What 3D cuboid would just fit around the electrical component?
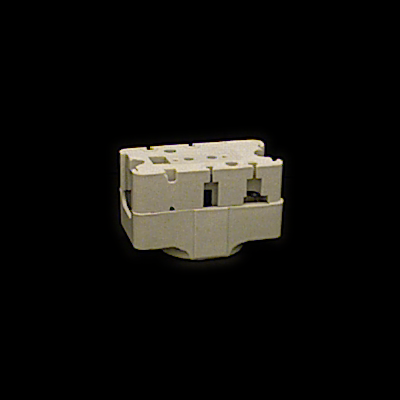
[{"bbox_3d":[0.000,0.000,0.646,0.090,0.056,0.049,-5,23,-15],"label":"electrical component"}]
